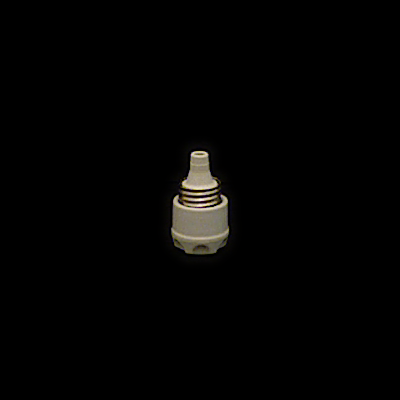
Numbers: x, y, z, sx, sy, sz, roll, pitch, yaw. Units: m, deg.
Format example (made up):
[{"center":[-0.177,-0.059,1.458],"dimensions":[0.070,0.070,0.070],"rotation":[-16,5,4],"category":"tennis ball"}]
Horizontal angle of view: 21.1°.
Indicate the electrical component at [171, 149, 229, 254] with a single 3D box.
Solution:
[{"center":[0.000,0.000,0.650],"dimensions":[0.035,0.062,0.034],"rotation":[-1,21,0],"category":"electrical component"}]
